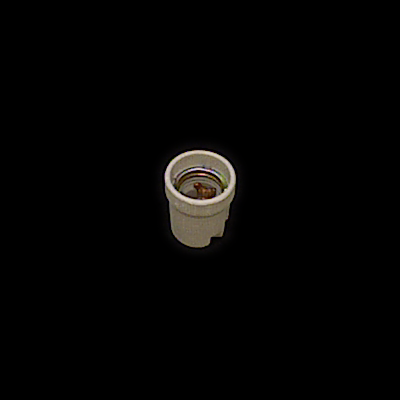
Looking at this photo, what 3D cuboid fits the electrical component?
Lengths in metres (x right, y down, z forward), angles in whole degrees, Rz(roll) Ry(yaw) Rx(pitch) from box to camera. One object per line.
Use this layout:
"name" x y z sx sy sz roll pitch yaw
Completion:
"electrical component" 0.000 0.000 0.630 0.040 0.040 0.046 0 -38 -1
